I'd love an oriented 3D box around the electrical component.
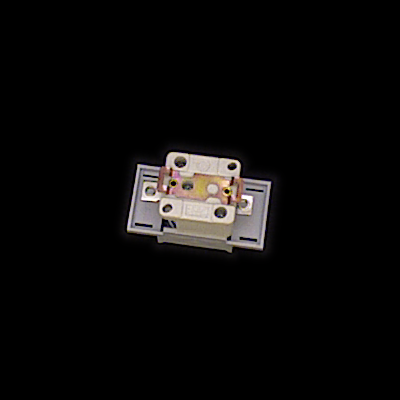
[{"bbox_3d":[0.000,0.000,0.625,0.081,0.042,0.063,7,-17,2],"label":"electrical component"}]
